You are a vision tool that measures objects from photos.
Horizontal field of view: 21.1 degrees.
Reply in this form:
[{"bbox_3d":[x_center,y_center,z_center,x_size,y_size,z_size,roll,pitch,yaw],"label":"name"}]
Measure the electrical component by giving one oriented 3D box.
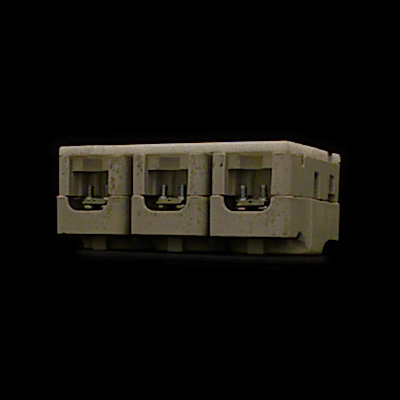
[{"bbox_3d":[0.000,0.000,0.656,0.149,0.062,0.090,1,-1,27],"label":"electrical component"}]
